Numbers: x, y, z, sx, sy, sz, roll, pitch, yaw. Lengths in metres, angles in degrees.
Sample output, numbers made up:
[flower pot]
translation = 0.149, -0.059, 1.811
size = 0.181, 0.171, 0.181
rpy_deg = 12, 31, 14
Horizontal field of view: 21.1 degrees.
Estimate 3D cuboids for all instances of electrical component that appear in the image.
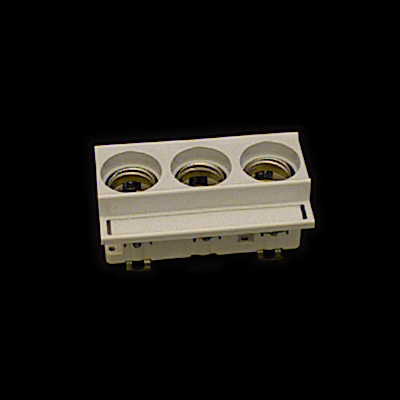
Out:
[electrical component]
translation = 0.000, 0.000, 0.642
size = 0.121, 0.064, 0.077
rpy_deg = -4, 44, -5
